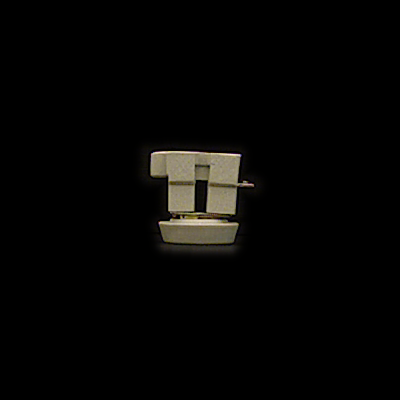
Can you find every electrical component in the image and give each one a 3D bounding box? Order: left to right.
[{"bbox_3d":[0.000,0.000,0.656,0.066,0.055,0.048,2,1,-2],"label":"electrical component"}]
